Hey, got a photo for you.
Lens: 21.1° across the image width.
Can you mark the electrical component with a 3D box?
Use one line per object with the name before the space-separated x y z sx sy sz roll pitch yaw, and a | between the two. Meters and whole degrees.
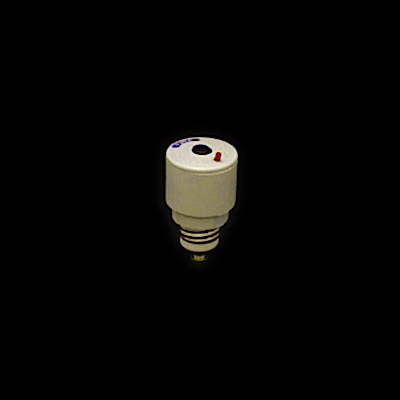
electrical component | 0.000 0.000 0.627 0.040 0.079 0.039 1 31 -1
